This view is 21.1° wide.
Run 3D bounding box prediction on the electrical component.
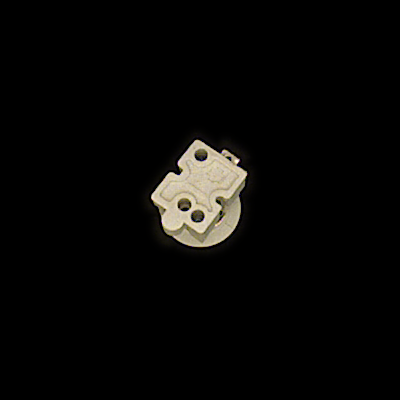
[{"bbox_3d":[0.000,0.000,0.637,0.048,0.067,0.055,35,-14,11],"label":"electrical component"}]
